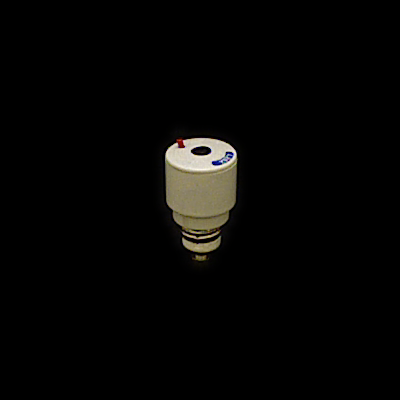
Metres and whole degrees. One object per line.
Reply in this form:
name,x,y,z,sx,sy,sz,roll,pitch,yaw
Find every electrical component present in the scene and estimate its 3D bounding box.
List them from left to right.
electrical component,0.000,0.000,0.631,0.040,0.079,0.039,0,31,0
